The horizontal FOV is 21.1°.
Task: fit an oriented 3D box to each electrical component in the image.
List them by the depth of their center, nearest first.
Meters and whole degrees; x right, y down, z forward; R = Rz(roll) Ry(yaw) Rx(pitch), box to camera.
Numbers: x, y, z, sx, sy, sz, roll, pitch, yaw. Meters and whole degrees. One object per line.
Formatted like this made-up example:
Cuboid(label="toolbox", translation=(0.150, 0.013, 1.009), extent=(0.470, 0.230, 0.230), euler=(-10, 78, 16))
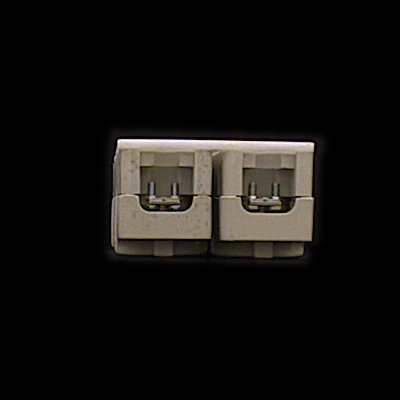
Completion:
Cuboid(label="electrical component", translation=(0.000, 0.000, 0.649), extent=(0.105, 0.060, 0.186), euler=(1, -1, -5))
